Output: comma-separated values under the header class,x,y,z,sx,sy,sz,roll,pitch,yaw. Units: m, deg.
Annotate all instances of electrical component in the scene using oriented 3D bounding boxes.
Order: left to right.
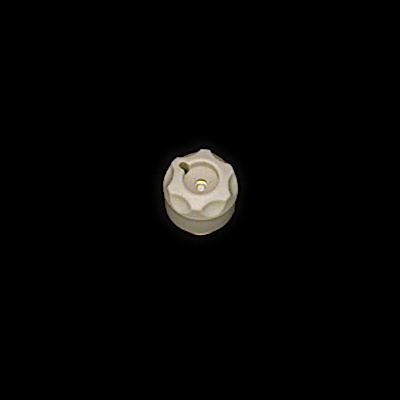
class,x,y,z,sx,sy,sz,roll,pitch,yaw
electrical component,0.000,0.000,0.634,0.043,0.043,0.062,0,-26,-1
